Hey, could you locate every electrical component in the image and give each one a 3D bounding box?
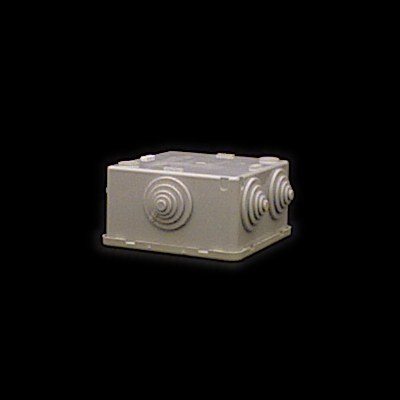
[{"bbox_3d":[0.000,0.000,0.644,0.099,0.049,0.099,6,11,25],"label":"electrical component"}]
